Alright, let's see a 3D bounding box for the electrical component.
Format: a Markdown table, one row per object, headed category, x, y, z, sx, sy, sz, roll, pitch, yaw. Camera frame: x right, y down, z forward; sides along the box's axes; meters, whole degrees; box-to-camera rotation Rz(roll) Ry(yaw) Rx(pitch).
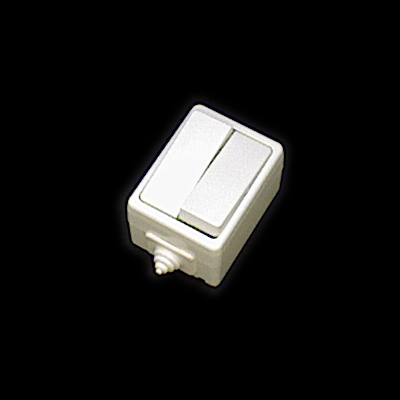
| category | x | y | z | sx | sy | sz | roll | pitch | yaw |
| --- | --- | --- | --- | --- | --- | --- | --- | --- | --- |
| electrical component | 0.000 | 0.000 | 0.625 | 0.061 | 0.097 | 0.060 | 28 | -24 | 14 |
